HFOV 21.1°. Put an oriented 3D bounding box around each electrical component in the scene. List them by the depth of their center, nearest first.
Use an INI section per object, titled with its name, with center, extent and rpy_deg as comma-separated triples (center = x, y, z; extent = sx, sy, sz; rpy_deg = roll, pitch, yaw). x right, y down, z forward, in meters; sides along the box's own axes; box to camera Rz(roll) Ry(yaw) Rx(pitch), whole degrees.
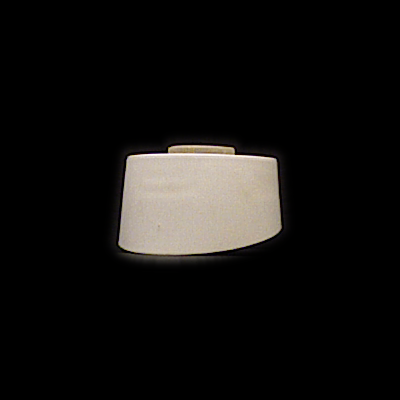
[electrical component]
center = 0.000, 0.000, 0.650
extent = 0.099, 0.064, 0.099
rpy_deg = 1, 0, 0
